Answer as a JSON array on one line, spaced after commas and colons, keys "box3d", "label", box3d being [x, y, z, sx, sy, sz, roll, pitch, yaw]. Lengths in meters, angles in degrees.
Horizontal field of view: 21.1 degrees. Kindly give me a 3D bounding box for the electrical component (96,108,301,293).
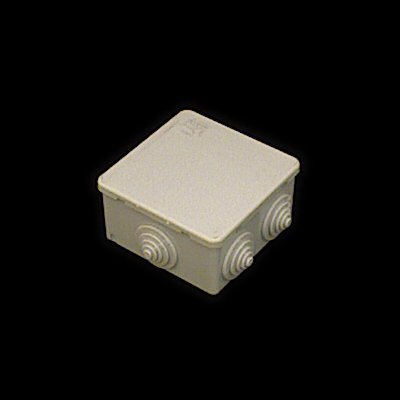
[{"box3d": [0.000, 0.000, 0.643, 0.098, 0.049, 0.100, 27, 49, 25], "label": "electrical component"}]
